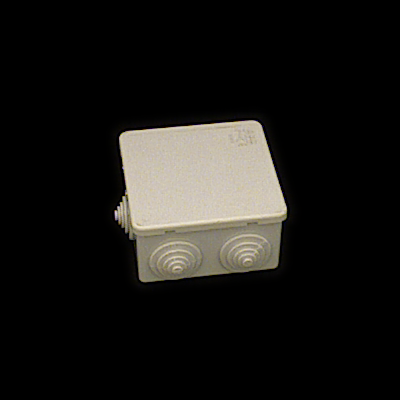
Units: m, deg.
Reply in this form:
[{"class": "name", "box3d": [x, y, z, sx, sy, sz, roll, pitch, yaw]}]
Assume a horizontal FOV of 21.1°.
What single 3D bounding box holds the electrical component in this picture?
[{"class": "electrical component", "box3d": [0.000, 0.000, 0.643, 0.100, 0.049, 0.098, -5, 43, -7]}]
